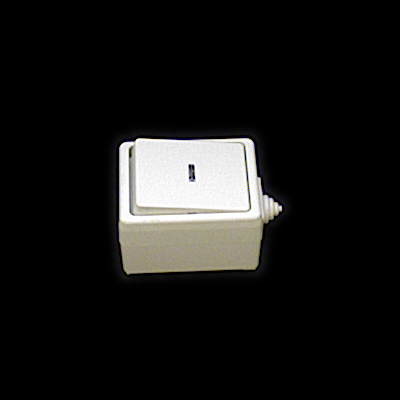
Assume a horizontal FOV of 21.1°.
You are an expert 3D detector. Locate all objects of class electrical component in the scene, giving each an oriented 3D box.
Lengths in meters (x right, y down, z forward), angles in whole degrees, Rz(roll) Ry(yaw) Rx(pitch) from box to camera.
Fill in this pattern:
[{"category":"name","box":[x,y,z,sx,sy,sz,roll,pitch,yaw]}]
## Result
[{"category":"electrical component","box":[0.000,0.000,0.628,0.096,0.061,0.061,-2,-38,-2]}]
